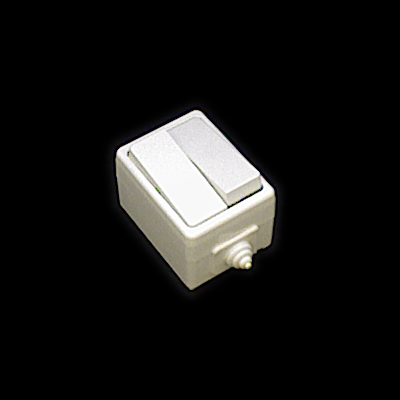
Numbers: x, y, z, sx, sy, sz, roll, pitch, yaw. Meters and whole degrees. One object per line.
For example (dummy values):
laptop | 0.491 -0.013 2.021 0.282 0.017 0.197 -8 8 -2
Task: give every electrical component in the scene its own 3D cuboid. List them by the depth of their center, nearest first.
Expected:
electrical component | 0.000 0.000 0.627 0.062 0.096 0.061 -28 -33 -20
